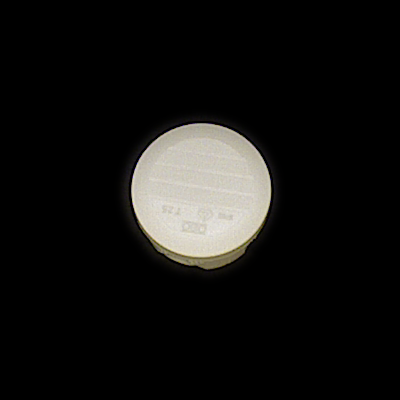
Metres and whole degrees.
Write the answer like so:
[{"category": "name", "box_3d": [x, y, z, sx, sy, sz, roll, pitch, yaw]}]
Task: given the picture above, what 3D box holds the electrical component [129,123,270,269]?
[{"category": "electrical component", "box_3d": [0.000, 0.000, 0.630, 0.080, 0.080, 0.050, 0, -17, 0]}]
